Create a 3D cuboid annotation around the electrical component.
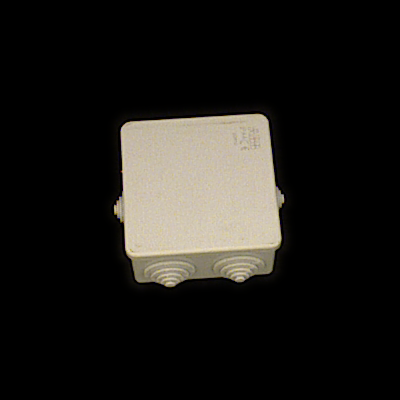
[{"bbox_3d":[0.000,0.000,0.641,0.100,0.099,0.048,-3,-27,-2],"label":"electrical component"}]
